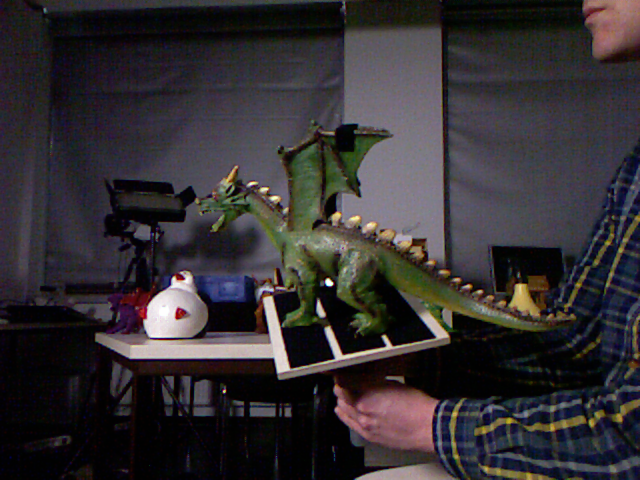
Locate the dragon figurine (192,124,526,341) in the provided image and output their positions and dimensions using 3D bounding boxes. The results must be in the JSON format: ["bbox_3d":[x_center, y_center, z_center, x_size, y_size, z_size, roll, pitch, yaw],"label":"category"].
[{"bbox_3d":[0.027,-0.018,0.621,0.411,0.239,0.125,2,27,25],"label":"dragon figurine"}]
